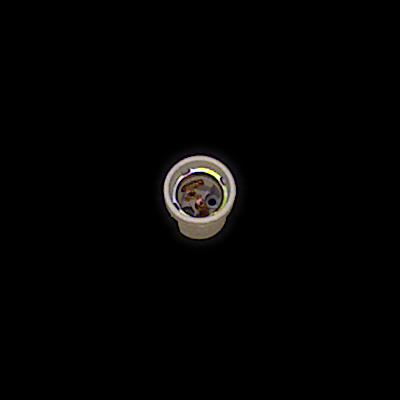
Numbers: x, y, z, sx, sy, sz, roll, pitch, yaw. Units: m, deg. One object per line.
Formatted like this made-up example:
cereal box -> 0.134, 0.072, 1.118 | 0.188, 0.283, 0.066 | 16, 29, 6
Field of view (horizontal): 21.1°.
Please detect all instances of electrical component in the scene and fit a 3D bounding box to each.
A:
electrical component -> 0.000, 0.000, 0.627 | 0.040, 0.040, 0.046 | 0, -17, -1
